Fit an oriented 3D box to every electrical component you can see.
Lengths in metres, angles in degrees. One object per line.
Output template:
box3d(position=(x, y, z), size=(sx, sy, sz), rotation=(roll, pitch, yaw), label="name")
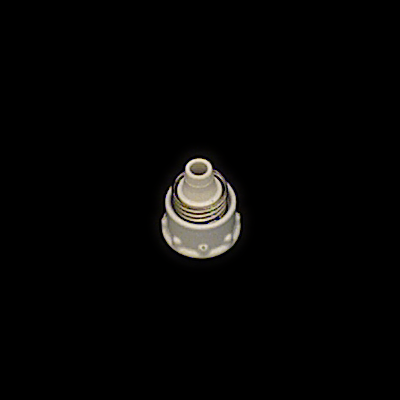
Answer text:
box3d(position=(0.000, 0.000, 0.635), size=(0.048, 0.048, 0.062), rotation=(0, -38, 1), label="electrical component")
